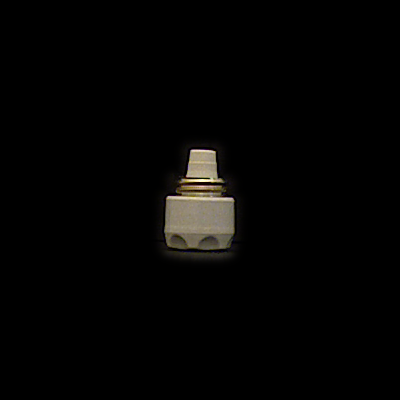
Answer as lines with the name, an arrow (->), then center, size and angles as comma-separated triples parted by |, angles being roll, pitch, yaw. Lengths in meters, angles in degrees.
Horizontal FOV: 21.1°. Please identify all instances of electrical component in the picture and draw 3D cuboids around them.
electrical component -> 0.000, 0.000, 0.656 | 0.043, 0.062, 0.043 | 3, 2, 0
